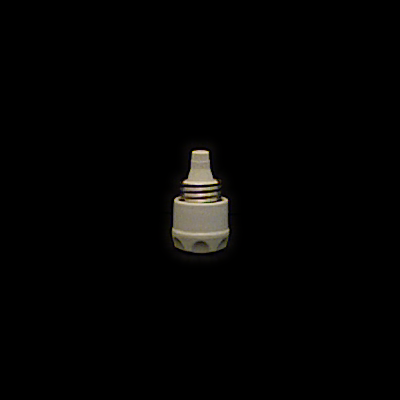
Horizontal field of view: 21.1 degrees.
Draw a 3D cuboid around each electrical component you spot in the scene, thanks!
[{"bbox_3d":[0.000,0.000,0.655,0.035,0.062,0.035,0,11,0],"label":"electrical component"}]
